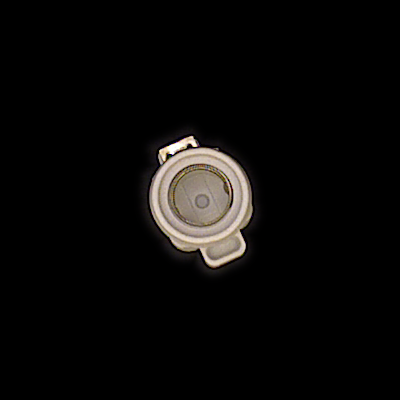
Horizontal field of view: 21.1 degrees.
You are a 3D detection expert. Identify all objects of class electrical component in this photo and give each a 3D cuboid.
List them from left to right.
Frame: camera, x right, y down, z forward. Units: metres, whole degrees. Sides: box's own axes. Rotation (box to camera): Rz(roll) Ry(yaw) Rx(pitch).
[{"bbox_3d":[0.000,0.000,0.630,0.058,0.078,0.056,-25,-6,-2],"label":"electrical component"}]
